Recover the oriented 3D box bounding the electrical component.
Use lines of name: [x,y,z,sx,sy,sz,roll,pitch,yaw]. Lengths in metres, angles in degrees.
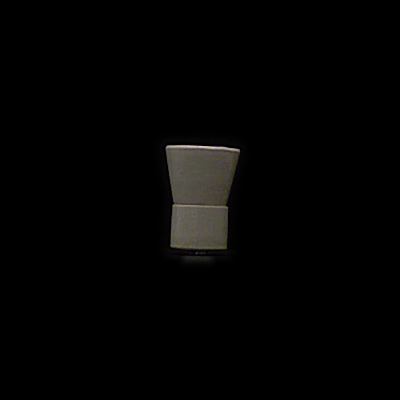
electrical component: [0.000,0.000,0.650,0.044,0.065,0.044,2,1,0]
